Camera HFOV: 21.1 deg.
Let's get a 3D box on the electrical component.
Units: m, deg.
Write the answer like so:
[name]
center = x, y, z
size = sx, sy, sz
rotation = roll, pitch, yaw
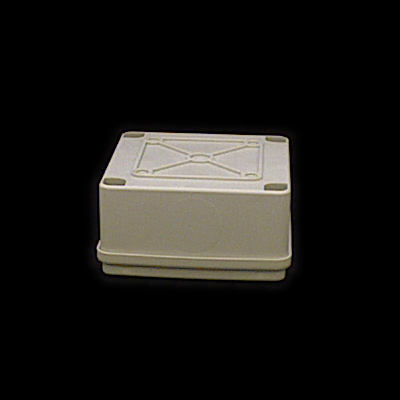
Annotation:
[electrical component]
center = 0.000, 0.000, 0.637
size = 0.109, 0.057, 0.107
rotation = 2, 21, 3
